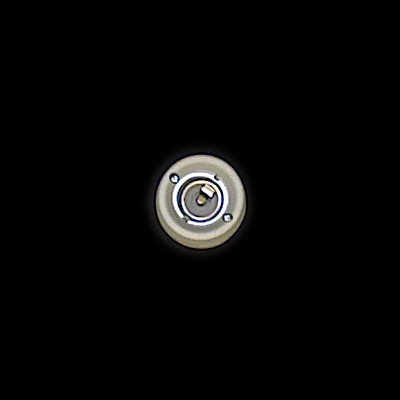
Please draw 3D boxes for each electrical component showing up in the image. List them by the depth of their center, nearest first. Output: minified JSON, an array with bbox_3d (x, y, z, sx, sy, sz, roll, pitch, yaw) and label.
[{"bbox_3d":[0.000,0.000,0.633,0.055,0.055,0.047,0,-6,0],"label":"electrical component"}]
